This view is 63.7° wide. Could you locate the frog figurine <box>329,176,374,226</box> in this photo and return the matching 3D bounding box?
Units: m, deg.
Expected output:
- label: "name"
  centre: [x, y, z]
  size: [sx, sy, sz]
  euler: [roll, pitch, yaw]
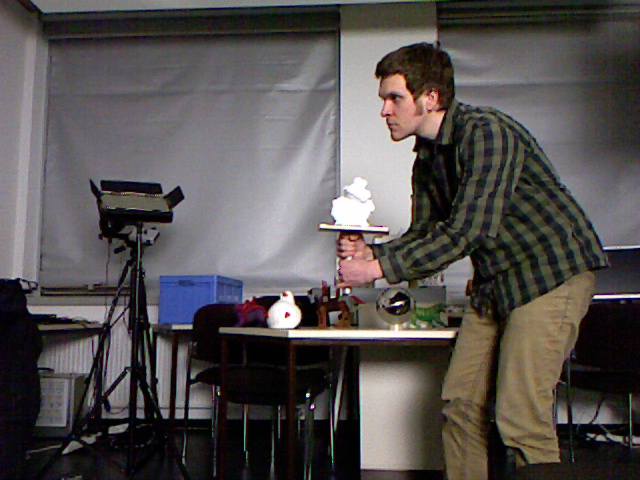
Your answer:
- label: "frog figurine"
  centre: [0.100, -0.119, 1.616]
  size: [0.138, 0.160, 0.123]
  euler: [4, 0, 14]
